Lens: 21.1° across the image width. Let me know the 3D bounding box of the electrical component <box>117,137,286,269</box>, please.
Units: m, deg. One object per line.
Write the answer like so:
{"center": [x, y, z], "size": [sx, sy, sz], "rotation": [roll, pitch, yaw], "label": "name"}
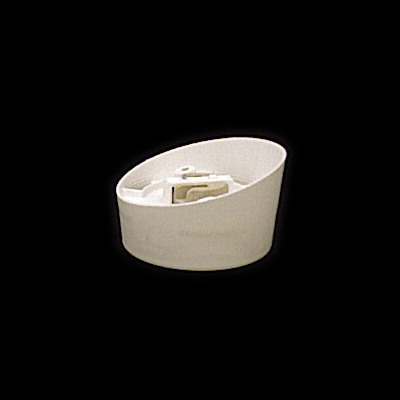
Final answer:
{"center": [0.000, 0.000, 0.639], "size": [0.099, 0.065, 0.097], "rotation": [2, 20, 0], "label": "electrical component"}
